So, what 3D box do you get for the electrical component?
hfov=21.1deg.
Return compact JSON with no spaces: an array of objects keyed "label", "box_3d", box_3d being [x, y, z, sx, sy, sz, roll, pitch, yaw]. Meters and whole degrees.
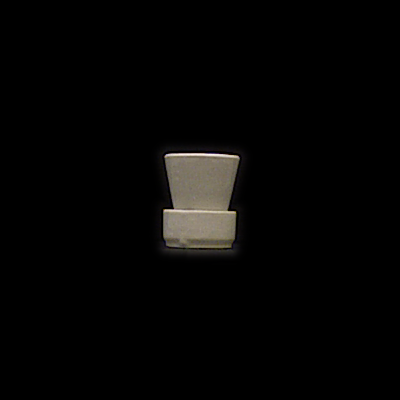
[{"label":"electrical component","box_3d":[0.000,0.000,0.651,0.045,0.055,0.044,2,2,0]}]
